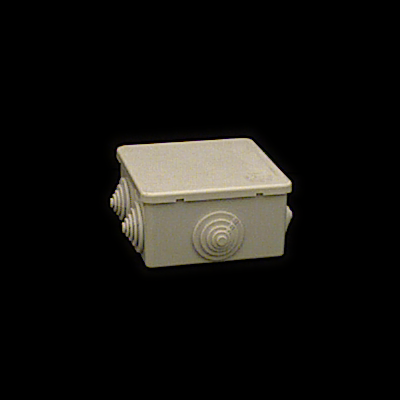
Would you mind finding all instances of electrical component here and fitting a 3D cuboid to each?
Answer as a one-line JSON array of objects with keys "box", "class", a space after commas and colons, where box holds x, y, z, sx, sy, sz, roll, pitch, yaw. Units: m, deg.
[{"box": [0.000, 0.000, 0.648, 0.100, 0.049, 0.098, -4, 22, -14], "class": "electrical component"}]
